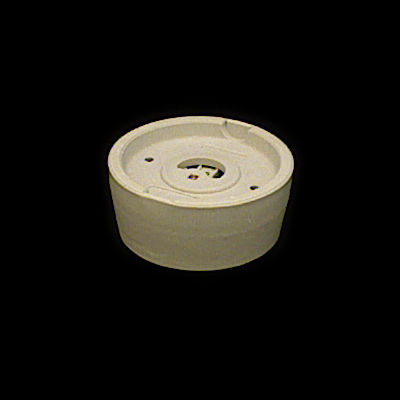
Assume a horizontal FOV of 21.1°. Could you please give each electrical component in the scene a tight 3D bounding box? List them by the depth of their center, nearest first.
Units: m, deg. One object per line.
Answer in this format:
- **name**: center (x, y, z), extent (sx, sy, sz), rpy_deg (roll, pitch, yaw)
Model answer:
- **electrical component**: center (0.000, 0.000, 0.638), extent (0.108, 0.061, 0.106), rpy_deg (1, 32, 0)
